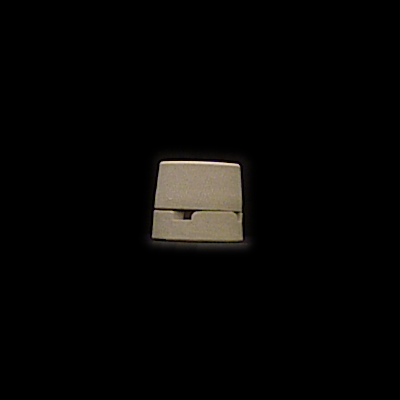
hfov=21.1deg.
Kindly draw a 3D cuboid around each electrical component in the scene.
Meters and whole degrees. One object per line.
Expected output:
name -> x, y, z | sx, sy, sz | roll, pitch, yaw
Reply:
electrical component -> 0.000, 0.000, 0.651 | 0.055, 0.047, 0.055 | 2, 1, 0
